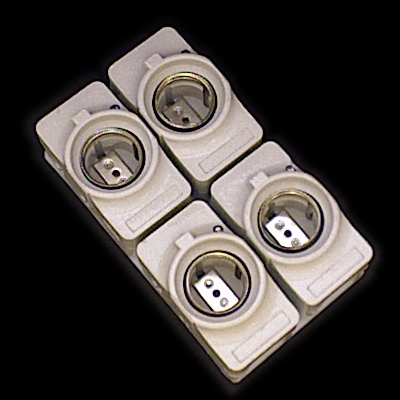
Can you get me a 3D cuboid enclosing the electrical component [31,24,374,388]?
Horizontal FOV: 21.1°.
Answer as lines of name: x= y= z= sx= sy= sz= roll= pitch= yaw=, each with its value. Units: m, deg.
electrical component: x=0.000 y=0.000 z=0.625 sx=0.106 sy=0.186 sz=0.060 roll=-38 pitch=-14 yaw=-10
